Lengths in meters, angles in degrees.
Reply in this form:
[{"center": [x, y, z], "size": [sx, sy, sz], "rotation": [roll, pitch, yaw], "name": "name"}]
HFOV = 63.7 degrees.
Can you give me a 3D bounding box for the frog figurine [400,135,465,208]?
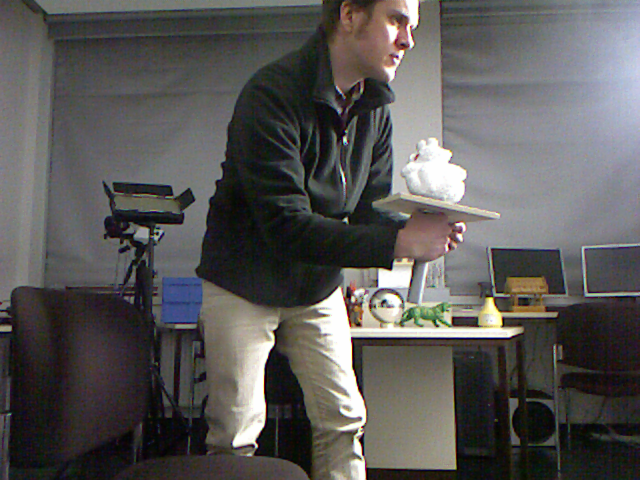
[{"center": [0.245, -0.148, 1.114], "size": [0.138, 0.159, 0.123], "rotation": [8, 2, 14], "name": "frog figurine"}]
